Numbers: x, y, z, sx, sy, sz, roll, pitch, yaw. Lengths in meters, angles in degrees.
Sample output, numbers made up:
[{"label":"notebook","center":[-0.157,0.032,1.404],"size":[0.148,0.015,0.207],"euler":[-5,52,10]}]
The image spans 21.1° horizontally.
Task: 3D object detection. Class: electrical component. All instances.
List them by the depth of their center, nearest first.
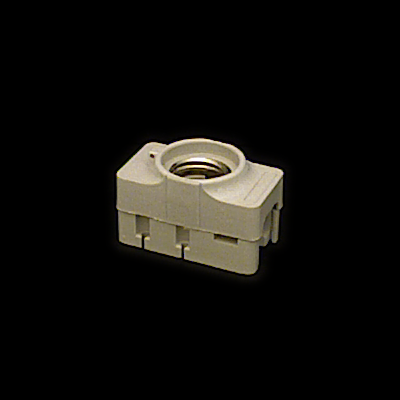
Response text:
[{"label":"electrical component","center":[0.000,0.000,0.643],"size":[0.089,0.056,0.050],"euler":[13,34,18]}]
